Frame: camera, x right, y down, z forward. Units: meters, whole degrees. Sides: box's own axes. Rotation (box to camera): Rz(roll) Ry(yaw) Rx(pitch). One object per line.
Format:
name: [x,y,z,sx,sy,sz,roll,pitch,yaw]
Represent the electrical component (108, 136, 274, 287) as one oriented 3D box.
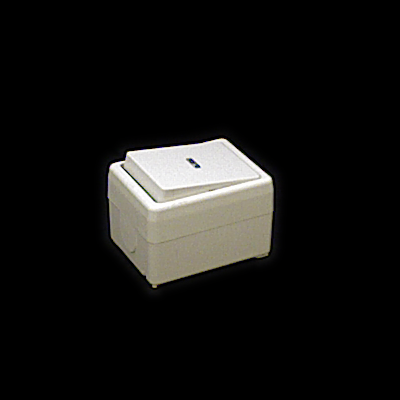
electrical component: [0.000,0.000,0.635,0.096,0.061,0.061,-15,34,-24]
